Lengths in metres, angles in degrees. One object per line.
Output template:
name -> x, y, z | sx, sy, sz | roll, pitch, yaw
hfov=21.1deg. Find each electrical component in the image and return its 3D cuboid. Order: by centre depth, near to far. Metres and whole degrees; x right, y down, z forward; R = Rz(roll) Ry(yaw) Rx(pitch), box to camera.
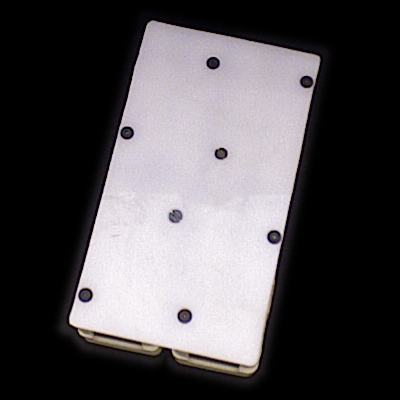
electrical component -> 0.000, 0.000, 0.625 | 0.105, 0.187, 0.060 | 12, -16, 4
